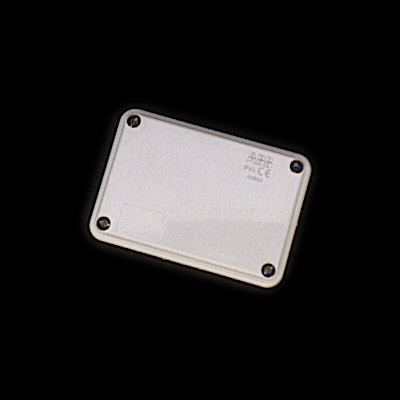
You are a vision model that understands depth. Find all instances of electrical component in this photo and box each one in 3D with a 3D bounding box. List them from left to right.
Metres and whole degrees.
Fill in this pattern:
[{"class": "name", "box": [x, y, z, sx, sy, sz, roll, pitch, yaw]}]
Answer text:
[{"class": "electrical component", "box": [0.000, 0.000, 0.628, 0.113, 0.078, 0.057, 16, -6, 2]}]
